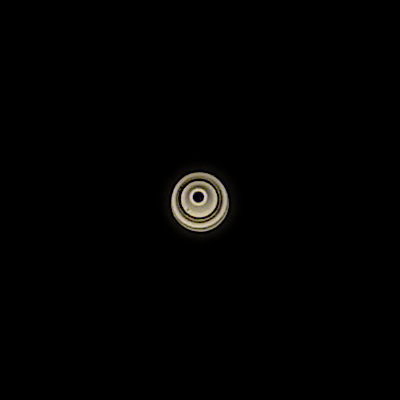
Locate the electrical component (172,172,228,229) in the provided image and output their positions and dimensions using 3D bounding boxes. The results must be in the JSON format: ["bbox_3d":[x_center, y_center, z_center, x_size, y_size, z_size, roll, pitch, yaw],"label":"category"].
[{"bbox_3d":[0.000,0.000,0.638,0.035,0.035,0.061,0,-4,1],"label":"electrical component"}]
